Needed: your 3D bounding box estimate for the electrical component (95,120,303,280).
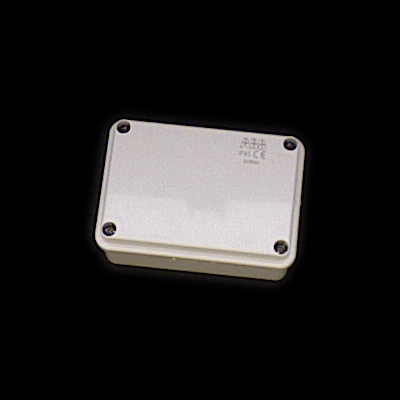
[{"bbox_3d":[0.000,0.000,0.628,0.113,0.078,0.057,6,-17,2],"label":"electrical component"}]
